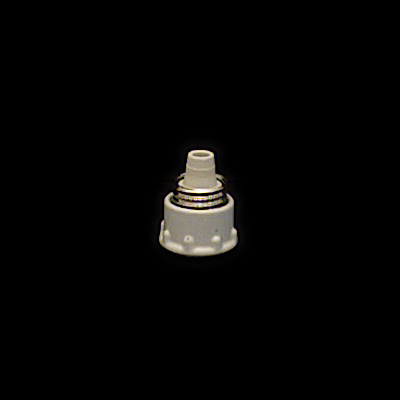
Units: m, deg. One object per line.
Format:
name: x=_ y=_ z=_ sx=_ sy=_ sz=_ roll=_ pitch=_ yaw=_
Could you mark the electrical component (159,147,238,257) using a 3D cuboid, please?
electrical component: x=0.000 y=0.000 z=0.645 sx=0.048 sy=0.063 sz=0.047 roll=1 pitch=23 yaw=0
